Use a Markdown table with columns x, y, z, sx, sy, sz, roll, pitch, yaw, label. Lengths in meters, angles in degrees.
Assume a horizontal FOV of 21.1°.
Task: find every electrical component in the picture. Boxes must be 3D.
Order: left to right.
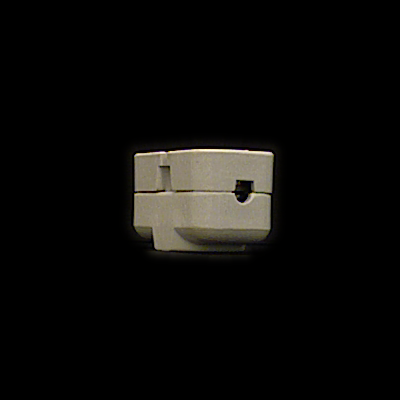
| x | y | z | sx | sy | sz | roll | pitch | yaw | label |
| --- | --- | --- | --- | --- | --- | --- | --- | --- | --- |
| 0.000 | 0.000 | 0.659 | 0.054 | 0.059 | 0.094 | 0 | 1 | -33 | electrical component |
